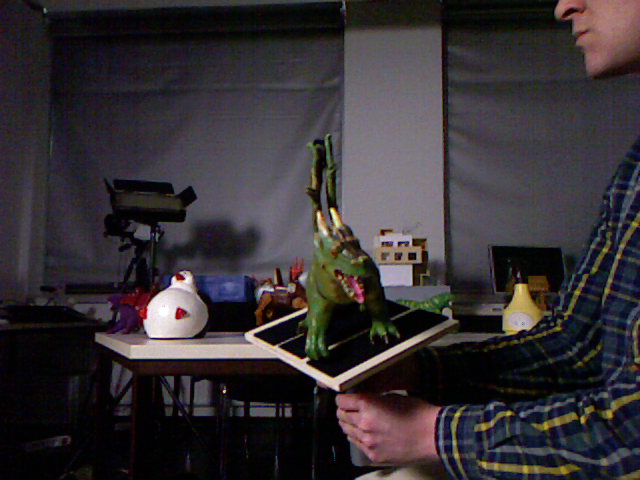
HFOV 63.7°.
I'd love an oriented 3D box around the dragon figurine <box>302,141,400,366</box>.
[{"bbox_3d":[0.023,-0.006,0.649,0.122,0.239,0.417,-7,22,-2],"label":"dragon figurine"}]
